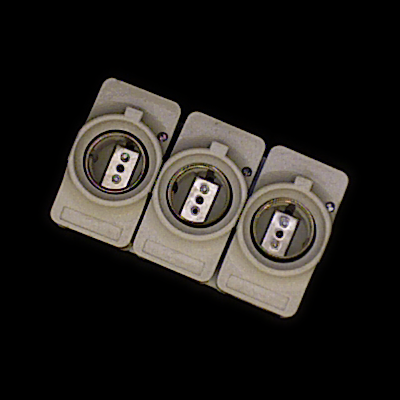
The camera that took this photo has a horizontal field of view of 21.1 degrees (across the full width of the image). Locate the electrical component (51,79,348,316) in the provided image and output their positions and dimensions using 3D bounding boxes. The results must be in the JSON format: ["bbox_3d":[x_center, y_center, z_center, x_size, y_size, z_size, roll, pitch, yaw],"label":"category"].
[{"bbox_3d":[0.000,0.000,0.632,0.150,0.089,0.061,22,-6,2],"label":"electrical component"}]
